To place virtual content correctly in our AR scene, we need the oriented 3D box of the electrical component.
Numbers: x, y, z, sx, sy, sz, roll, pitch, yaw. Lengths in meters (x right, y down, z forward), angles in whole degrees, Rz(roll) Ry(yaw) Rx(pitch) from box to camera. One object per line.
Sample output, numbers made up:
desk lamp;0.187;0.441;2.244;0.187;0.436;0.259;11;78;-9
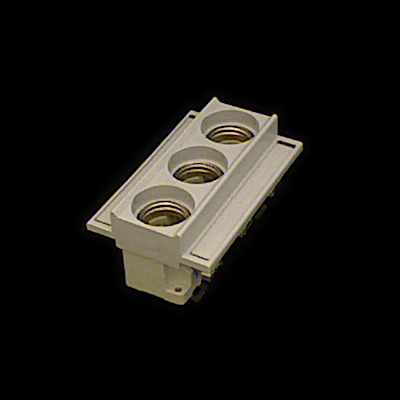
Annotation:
electrical component;0.000;0.000;0.642;0.078;0.064;0.120;19;46;22
